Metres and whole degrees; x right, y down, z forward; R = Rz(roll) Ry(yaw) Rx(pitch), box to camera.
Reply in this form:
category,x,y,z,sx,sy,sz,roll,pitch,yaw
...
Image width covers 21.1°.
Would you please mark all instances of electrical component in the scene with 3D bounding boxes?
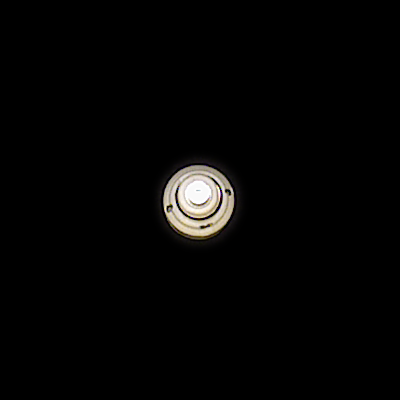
category,x,y,z,sx,sy,sz,roll,pitch,yaw
electrical component,0.000,0.000,0.618,0.040,0.040,0.078,0,-7,-1
